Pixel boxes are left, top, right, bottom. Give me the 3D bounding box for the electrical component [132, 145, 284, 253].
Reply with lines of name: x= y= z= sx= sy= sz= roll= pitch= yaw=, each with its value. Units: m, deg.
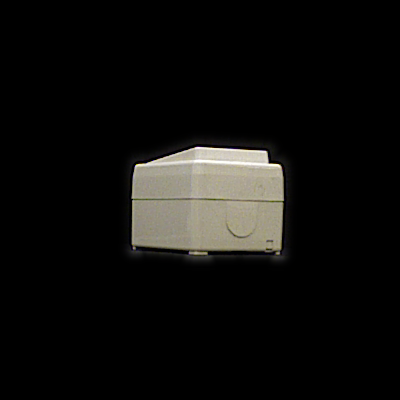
electrical component: x=0.000 y=0.000 z=0.652 sx=0.062 sy=0.061 sz=0.096 roll=1 pitch=0 yaw=-31
